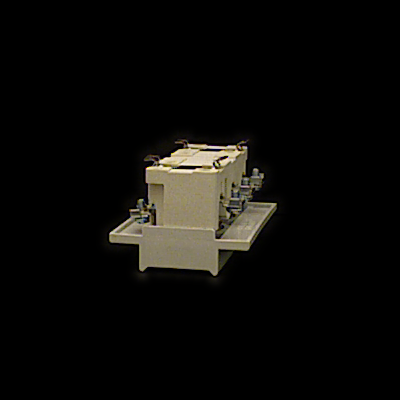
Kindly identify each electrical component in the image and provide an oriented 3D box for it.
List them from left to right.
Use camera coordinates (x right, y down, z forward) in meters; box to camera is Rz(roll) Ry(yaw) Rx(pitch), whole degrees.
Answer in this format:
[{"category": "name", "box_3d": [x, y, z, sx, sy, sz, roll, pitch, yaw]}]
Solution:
[{"category": "electrical component", "box_3d": [0.000, 0.000, 0.651, 0.078, 0.063, 0.121, 3, 11, 10]}]
